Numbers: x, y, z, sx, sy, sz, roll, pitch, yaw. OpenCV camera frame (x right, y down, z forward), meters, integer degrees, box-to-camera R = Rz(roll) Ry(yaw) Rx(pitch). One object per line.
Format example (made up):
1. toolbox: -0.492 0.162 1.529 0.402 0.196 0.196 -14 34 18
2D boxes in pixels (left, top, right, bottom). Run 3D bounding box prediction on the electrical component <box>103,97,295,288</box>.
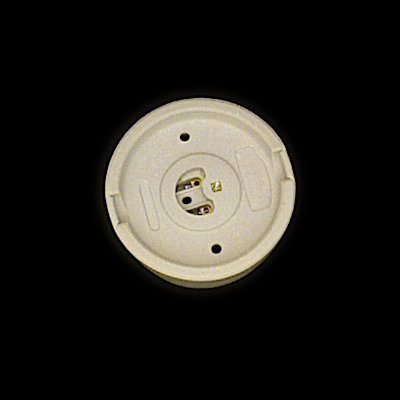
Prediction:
1. electrical component: 0.000 0.000 0.635 0.108 0.108 0.060 0 -16 1
